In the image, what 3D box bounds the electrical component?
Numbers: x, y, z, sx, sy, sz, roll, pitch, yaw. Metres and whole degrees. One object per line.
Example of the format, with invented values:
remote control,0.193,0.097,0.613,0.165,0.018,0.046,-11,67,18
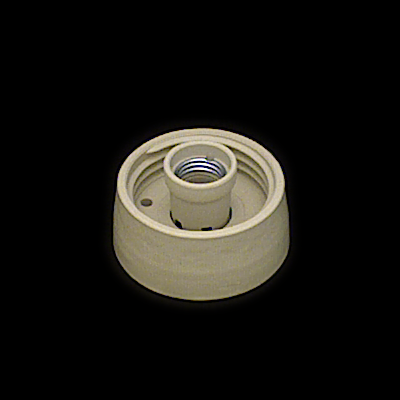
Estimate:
electrical component,0.000,0.000,0.639,0.108,0.061,0.106,1,42,0
